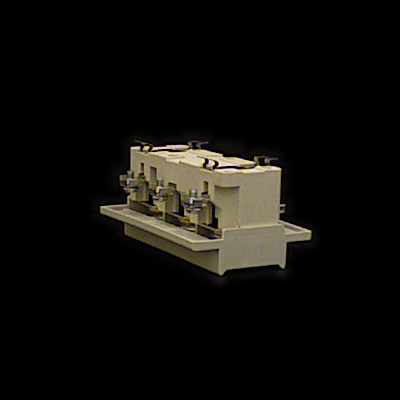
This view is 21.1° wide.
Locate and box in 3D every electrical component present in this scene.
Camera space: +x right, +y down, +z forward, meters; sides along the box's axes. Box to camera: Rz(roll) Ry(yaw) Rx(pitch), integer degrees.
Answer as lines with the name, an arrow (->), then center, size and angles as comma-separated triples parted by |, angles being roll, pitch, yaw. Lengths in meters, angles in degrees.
electrical component -> 0.000, 0.000, 0.654 | 0.079, 0.063, 0.120 | -5, 12, -30
